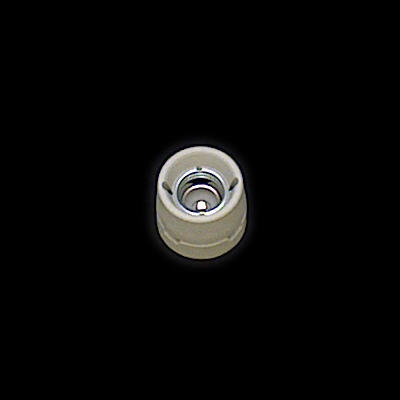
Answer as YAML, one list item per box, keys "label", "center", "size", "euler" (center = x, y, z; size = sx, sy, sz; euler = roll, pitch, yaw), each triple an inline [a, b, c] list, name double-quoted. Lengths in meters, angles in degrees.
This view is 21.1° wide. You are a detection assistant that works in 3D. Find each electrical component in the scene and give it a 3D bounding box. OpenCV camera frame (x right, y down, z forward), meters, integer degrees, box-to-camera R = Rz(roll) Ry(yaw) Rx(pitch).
- label: "electrical component"
  center: [0.000, 0.000, 0.633]
  size: [0.055, 0.056, 0.047]
  euler: [0, -27, 1]
